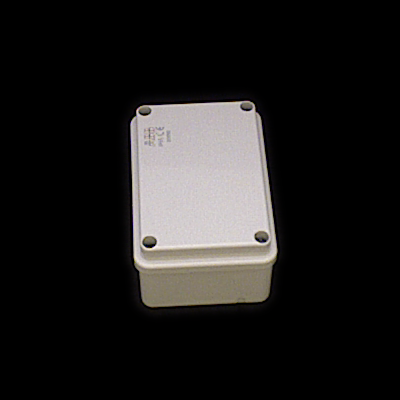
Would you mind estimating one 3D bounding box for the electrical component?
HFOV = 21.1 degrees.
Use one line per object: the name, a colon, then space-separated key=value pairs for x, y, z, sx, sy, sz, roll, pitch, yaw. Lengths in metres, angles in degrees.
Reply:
electrical component: x=0.000 y=0.000 z=0.628 sx=0.078 sy=0.112 sz=0.057 roll=-3 pitch=-37 yaw=-2
